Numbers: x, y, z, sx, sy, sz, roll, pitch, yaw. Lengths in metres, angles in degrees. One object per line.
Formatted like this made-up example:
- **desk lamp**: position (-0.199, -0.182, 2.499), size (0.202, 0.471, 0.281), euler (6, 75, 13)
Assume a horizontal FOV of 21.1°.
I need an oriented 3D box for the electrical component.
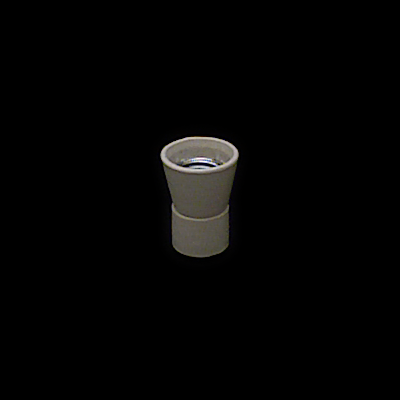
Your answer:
- **electrical component**: position (0.000, 0.000, 0.634), size (0.044, 0.066, 0.044), euler (0, 31, 0)
